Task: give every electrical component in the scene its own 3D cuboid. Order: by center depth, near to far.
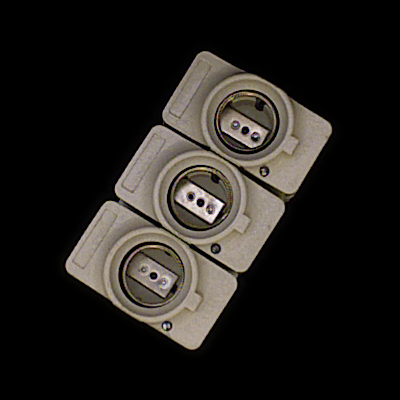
[{"bbox_3d":[0.000,0.000,0.632,0.089,0.150,0.061,32,-5,3],"label":"electrical component"}]
